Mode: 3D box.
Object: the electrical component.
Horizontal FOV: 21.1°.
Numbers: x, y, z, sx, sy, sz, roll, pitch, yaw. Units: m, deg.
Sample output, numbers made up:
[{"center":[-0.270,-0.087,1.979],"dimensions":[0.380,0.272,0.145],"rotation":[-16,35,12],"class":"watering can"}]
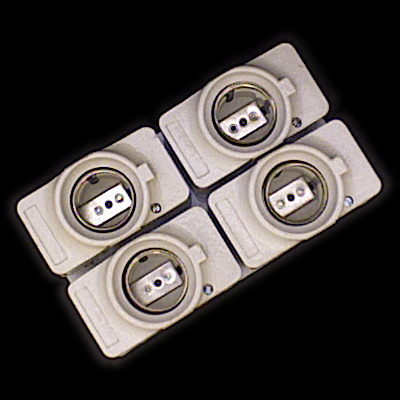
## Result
[{"center":[0.000,0.000,0.626],"dimensions":[0.186,0.106,0.060],"rotation":[-32,-6,-4],"class":"electrical component"}]
